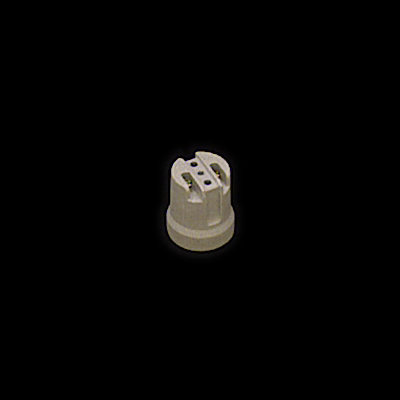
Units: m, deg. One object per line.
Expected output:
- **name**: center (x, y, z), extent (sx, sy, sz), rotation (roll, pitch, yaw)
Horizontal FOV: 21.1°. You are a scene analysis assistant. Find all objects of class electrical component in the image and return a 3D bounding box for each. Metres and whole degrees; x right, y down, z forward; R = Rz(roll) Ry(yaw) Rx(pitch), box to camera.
- **electrical component**: center (0.000, 0.000, 0.634), extent (0.040, 0.046, 0.040), rotation (0, 42, 0)
